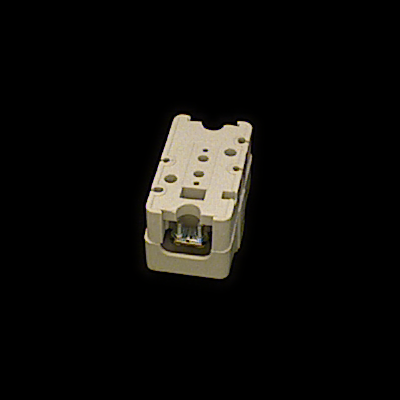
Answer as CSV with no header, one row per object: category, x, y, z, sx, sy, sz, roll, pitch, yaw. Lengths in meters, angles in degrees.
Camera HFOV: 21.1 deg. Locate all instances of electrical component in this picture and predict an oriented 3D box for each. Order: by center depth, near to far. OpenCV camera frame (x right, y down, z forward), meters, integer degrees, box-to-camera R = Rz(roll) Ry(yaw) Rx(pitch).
electrical component,0.000,0.000,0.639,0.050,0.056,0.089,8,44,7
